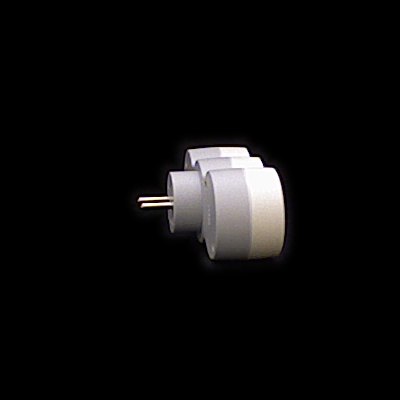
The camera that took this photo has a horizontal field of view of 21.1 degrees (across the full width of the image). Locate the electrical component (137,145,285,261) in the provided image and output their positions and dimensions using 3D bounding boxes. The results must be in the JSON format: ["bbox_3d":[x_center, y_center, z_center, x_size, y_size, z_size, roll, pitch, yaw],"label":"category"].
[{"bbox_3d":[0.000,0.000,0.642,0.074,0.052,0.137,-2,11,-8],"label":"electrical component"}]
